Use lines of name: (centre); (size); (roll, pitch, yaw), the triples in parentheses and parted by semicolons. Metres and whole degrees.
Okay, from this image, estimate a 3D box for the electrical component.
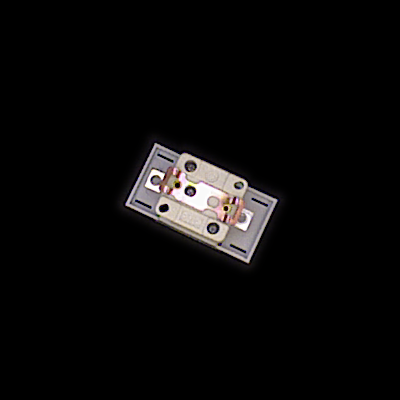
electrical component: (0.000, 0.000, 0.626); (0.081, 0.042, 0.063); (24, -6, 3)
